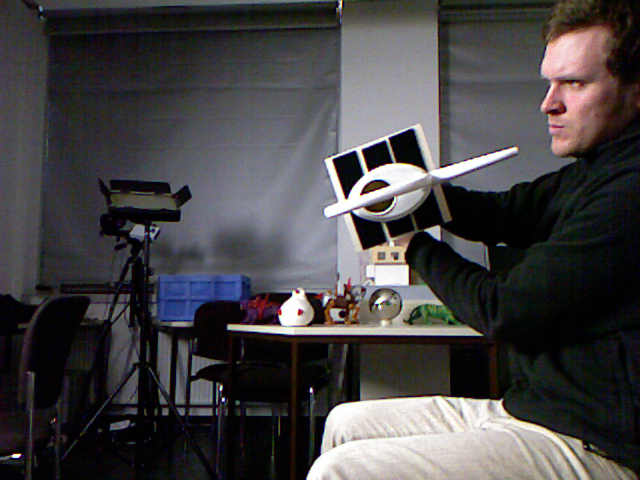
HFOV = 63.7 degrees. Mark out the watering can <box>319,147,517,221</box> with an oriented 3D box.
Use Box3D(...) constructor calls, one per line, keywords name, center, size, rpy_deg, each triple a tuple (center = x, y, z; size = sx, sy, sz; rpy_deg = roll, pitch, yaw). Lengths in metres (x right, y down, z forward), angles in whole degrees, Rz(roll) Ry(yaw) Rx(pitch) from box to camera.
Box3D(name="watering can", center=(0.169, -0.107, 0.962), size=(0.349, 0.104, 0.227), rpy_deg=(-16, 9, 7))
